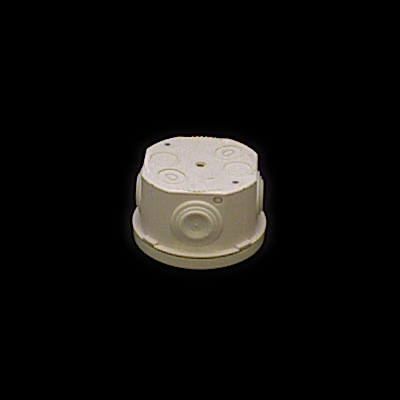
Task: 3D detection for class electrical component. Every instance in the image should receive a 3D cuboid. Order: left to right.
[{"bbox_3d":[0.000,0.000,0.637,0.080,0.051,0.079,1,32,-1],"label":"electrical component"}]
